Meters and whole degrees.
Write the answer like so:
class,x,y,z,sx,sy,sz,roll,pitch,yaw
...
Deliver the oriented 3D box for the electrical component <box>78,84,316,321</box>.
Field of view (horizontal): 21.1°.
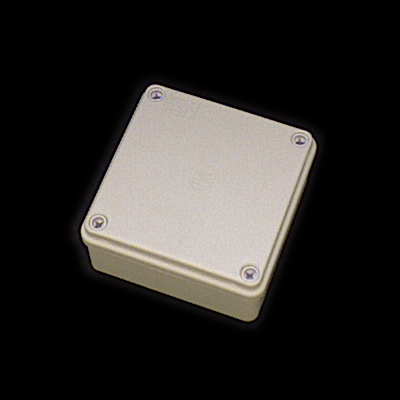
class,x,y,z,sx,sy,sz,roll,pitch,yaw
electrical component,0.000,0.000,0.628,0.108,0.109,0.056,18,-26,9
